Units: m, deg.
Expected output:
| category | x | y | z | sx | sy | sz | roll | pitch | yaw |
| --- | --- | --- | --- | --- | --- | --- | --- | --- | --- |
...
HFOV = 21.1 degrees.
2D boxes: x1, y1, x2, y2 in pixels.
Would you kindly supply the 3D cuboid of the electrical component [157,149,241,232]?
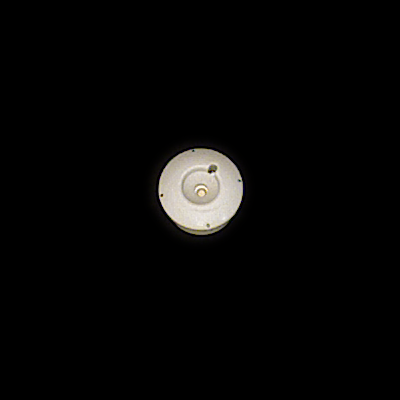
| category | x | y | z | sx | sy | sz | roll | pitch | yaw |
| --- | --- | --- | --- | --- | --- | --- | --- | --- | --- |
| electrical component | 0.000 | 0.000 | 0.633 | 0.048 | 0.048 | 0.061 | 0 | -16 | 1 |
